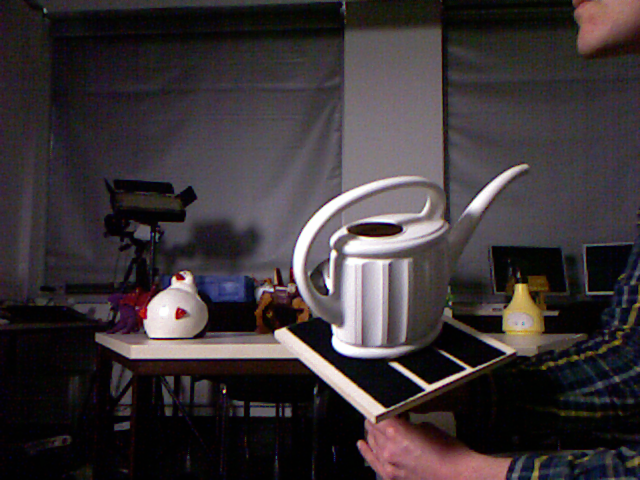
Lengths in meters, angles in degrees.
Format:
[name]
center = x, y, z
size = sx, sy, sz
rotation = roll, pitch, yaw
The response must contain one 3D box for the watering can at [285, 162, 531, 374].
[watering can]
center = 0.118, 0.024, 0.604
size = 0.352, 0.222, 0.106
rotation = -13, 27, -28
